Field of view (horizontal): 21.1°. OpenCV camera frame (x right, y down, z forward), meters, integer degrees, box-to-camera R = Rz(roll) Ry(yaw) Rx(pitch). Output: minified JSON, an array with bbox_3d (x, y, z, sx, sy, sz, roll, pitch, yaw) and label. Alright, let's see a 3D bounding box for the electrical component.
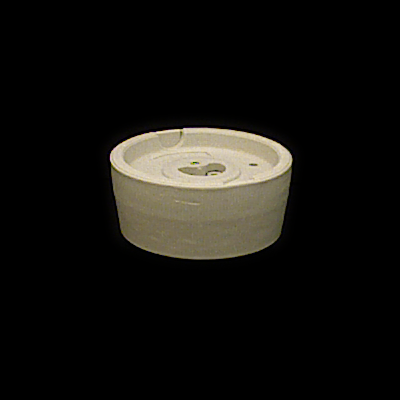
[{"bbox_3d":[0.000,0.000,0.647,0.108,0.061,0.106,1,22,0],"label":"electrical component"}]
